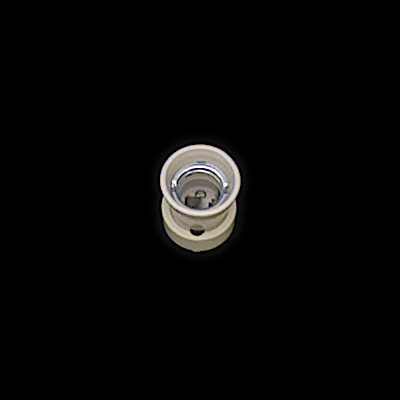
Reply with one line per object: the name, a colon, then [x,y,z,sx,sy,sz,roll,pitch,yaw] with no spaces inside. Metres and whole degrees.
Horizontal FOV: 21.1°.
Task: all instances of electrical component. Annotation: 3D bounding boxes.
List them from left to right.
electrical component: [0.000,0.000,0.629,0.045,0.045,0.055,0,-27,-1]
